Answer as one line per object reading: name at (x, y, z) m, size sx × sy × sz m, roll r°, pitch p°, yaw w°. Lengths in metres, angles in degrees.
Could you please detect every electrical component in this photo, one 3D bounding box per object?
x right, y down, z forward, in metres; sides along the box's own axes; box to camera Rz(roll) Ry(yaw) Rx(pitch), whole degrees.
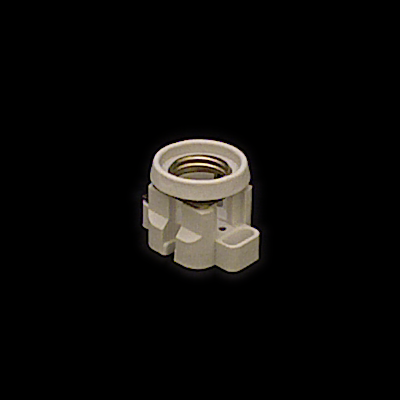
electrical component at (0.000, 0.000, 0.635) m, size 0.077 × 0.057 × 0.058 m, roll 26°, pitch 40°, yaw 35°
